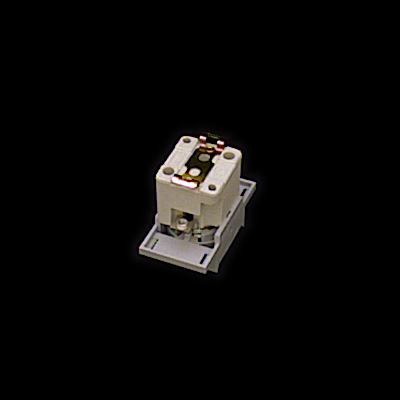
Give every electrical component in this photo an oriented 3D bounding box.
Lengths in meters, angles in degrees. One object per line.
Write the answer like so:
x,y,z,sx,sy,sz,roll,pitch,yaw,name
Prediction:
0.000,0.000,0.629,0.042,0.064,0.080,16,44,16,electrical component
